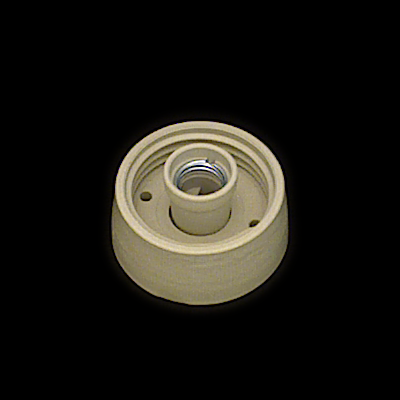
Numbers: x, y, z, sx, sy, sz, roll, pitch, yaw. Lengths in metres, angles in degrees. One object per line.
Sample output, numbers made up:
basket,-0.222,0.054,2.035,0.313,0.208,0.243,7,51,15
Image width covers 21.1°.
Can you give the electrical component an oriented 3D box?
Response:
electrical component,0.000,0.000,0.634,0.108,0.107,0.060,0,-37,-1
